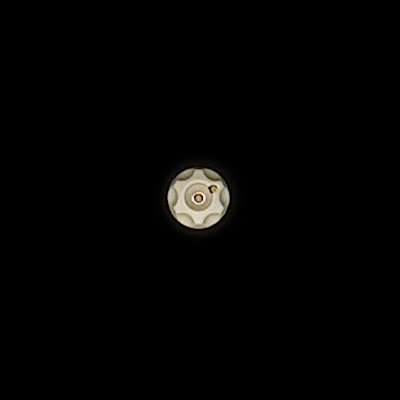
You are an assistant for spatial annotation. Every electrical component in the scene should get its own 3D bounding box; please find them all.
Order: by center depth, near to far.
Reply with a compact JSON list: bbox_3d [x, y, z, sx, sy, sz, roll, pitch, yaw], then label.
[{"bbox_3d":[0.000,0.000,0.635,0.035,0.035,0.061,0,-5,0],"label":"electrical component"}]
